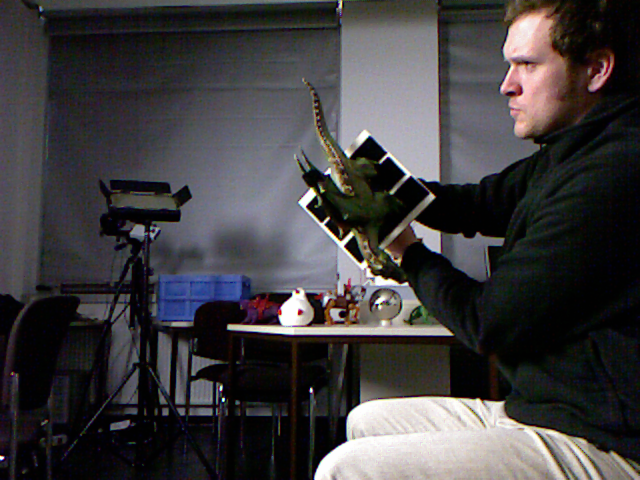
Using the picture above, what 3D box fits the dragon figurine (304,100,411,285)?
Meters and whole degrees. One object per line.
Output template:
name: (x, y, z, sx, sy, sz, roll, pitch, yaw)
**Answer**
dragon figurine: (0.045, -0.096, 0.933, 0.122, 0.415, 0.245, -33, -9, 17)
